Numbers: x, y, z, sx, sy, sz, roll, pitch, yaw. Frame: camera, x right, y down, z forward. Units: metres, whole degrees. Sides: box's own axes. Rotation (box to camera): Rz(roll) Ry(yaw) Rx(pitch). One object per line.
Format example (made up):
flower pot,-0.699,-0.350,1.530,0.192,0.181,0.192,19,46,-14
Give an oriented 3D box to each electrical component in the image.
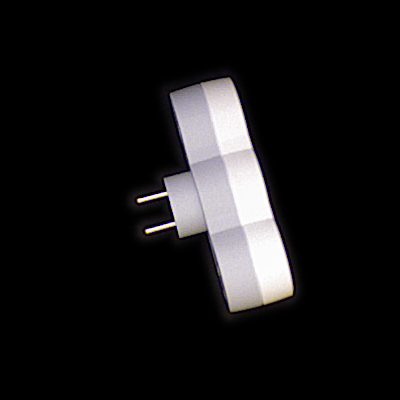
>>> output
electrical component,0.000,0.000,0.629,0.074,0.139,0.052,-15,-16,-2
